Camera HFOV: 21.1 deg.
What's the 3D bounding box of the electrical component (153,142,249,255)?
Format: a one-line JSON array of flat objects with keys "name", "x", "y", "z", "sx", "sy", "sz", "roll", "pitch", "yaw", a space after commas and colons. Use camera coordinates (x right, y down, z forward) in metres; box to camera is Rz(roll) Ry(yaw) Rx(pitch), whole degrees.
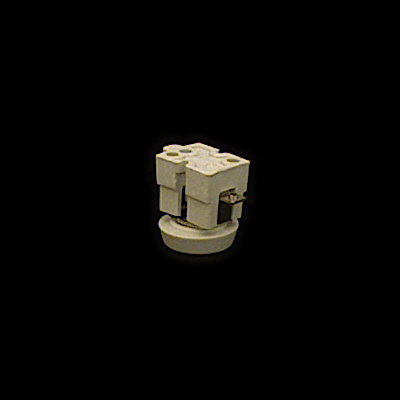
[{"name": "electrical component", "x": 0.000, "y": 0.000, "z": 0.647, "sx": 0.065, "sy": 0.056, "sz": 0.049, "roll": 22, "pitch": 29, "yaw": 39}]
